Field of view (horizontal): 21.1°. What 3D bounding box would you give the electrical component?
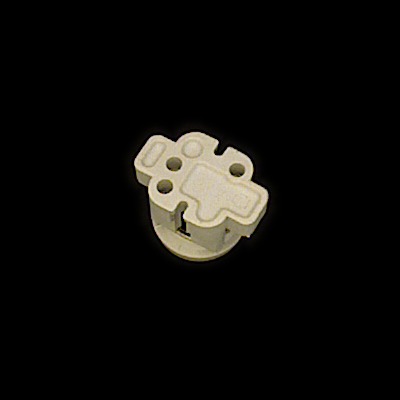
[{"bbox_3d":[0.000,0.000,0.636,0.078,0.058,0.057,27,-24,11],"label":"electrical component"}]
